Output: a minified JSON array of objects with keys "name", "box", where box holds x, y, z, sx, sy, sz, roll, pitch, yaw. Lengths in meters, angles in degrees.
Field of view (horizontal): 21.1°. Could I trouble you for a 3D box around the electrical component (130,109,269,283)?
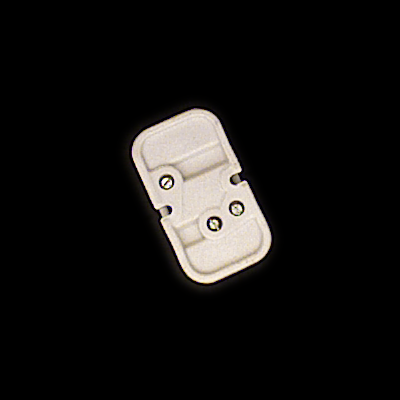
[{"name":"electrical component","box":[0.000,0.000,0.637,0.054,0.095,0.059,-25,-6,-2]}]
